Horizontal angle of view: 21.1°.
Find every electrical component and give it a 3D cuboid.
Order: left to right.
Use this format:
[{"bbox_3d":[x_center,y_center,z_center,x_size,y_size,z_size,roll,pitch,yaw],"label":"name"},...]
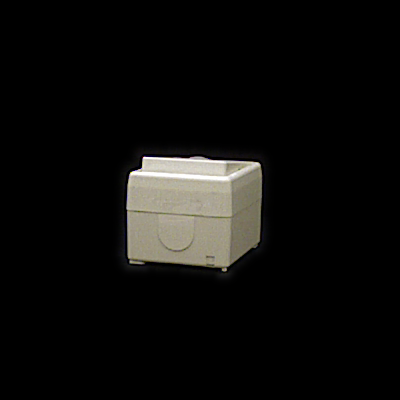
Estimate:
[{"bbox_3d":[0.000,0.000,0.646,0.061,0.061,0.095,4,11,16],"label":"electrical component"}]
